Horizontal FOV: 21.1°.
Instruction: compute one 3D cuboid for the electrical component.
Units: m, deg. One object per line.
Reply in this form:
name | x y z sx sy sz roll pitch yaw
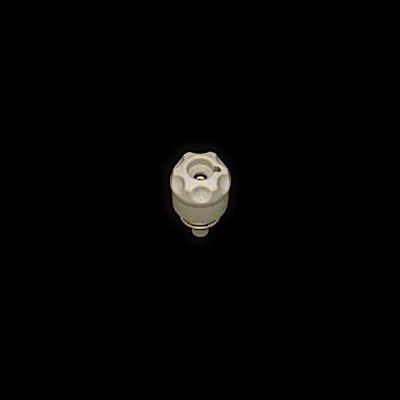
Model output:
electrical component | 0.000 0.000 0.634 0.035 0.035 0.061 0 -37 0
